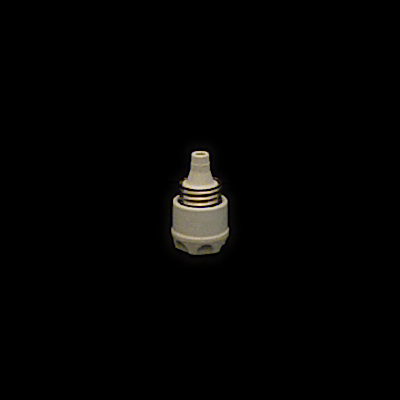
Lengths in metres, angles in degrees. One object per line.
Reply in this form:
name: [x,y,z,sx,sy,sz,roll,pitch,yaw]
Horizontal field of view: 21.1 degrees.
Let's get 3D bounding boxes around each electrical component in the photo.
electrical component: [0.000,0.000,0.650,0.035,0.062,0.035,1,20,0]
